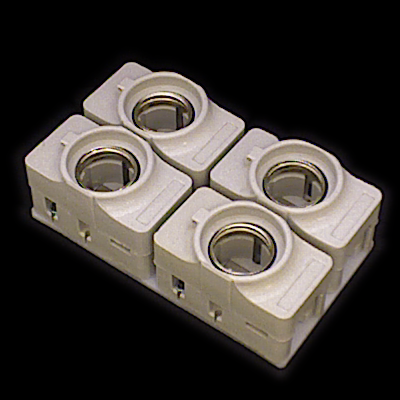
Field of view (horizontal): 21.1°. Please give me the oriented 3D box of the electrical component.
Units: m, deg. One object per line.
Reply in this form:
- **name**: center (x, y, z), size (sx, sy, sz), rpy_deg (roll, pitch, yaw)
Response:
- **electrical component**: center (0.000, 0.000, 0.627), size (0.185, 0.105, 0.060), rpy_deg (30, -32, 21)
